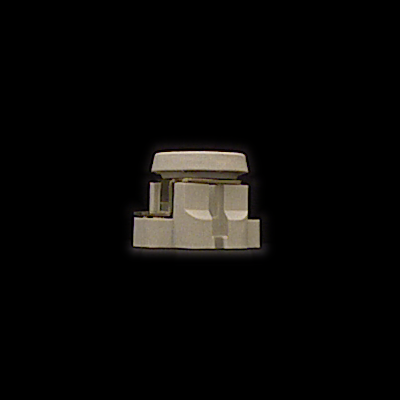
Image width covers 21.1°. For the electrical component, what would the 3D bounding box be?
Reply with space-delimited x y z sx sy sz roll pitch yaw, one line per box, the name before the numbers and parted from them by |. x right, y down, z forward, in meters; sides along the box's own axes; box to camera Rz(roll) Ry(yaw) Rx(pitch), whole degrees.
electrical component | 0.000 0.000 0.647 0.079 0.057 0.057 1 1 -30
